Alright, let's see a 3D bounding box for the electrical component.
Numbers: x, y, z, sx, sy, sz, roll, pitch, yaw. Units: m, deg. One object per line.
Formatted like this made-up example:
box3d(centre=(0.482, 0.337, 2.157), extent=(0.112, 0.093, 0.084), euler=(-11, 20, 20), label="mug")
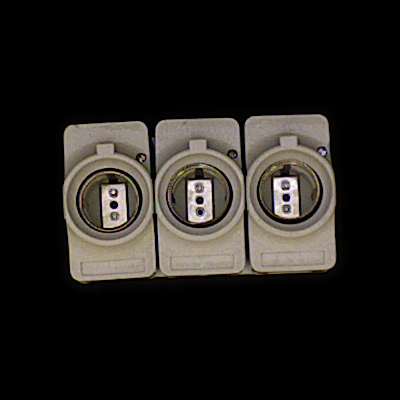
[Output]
box3d(centre=(0.000, 0.000, 0.632), extent=(0.150, 0.089, 0.061), euler=(-3, -7, -1), label="electrical component")
